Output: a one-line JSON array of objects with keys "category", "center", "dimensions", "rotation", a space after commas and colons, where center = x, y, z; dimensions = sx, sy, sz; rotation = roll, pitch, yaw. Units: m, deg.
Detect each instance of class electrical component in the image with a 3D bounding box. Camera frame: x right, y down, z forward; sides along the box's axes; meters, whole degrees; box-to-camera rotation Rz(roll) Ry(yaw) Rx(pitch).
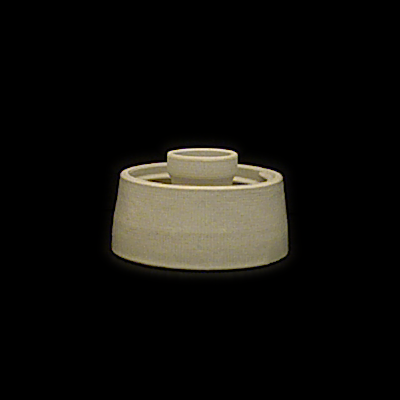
[{"category": "electrical component", "center": [0.000, 0.000, 0.651], "dimensions": [0.108, 0.061, 0.107], "rotation": [1, 11, 0]}]
